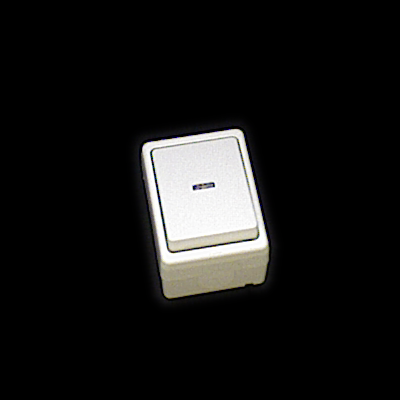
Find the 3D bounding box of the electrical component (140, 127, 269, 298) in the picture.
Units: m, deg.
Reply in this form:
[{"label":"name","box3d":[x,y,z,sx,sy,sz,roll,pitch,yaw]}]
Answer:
[{"label":"electrical component","box3d":[0.000,0.000,0.627,0.062,0.096,0.061,-9,-27,-5]}]
